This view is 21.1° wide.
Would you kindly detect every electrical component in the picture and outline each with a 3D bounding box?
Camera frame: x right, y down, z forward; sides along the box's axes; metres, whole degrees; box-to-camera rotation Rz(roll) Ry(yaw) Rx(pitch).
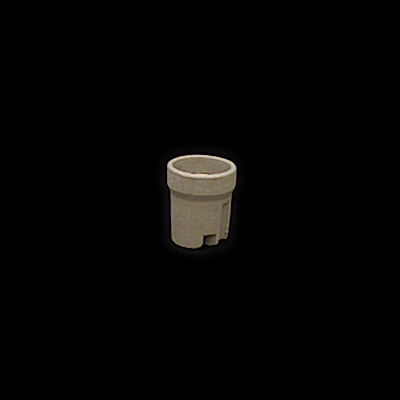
[{"bbox_3d":[0.000,0.000,0.638,0.040,0.047,0.039,1,21,0],"label":"electrical component"}]
